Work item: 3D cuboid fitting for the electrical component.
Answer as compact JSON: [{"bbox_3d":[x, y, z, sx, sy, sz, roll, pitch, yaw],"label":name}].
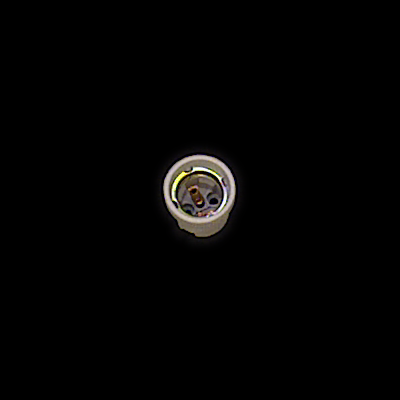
[{"bbox_3d":[0.000,0.000,0.626,0.040,0.040,0.046,0,-17,0],"label":"electrical component"}]
